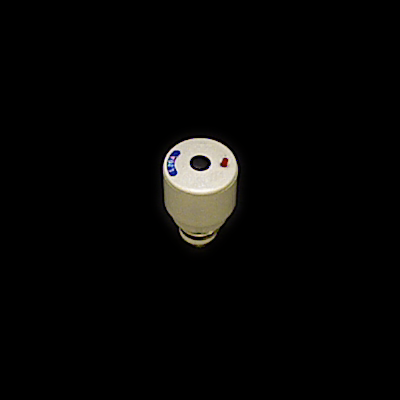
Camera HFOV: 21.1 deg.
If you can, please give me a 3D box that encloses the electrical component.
[{"bbox_3d":[0.000,0.000,0.620,0.040,0.040,0.078,0,-38,-1],"label":"electrical component"}]
